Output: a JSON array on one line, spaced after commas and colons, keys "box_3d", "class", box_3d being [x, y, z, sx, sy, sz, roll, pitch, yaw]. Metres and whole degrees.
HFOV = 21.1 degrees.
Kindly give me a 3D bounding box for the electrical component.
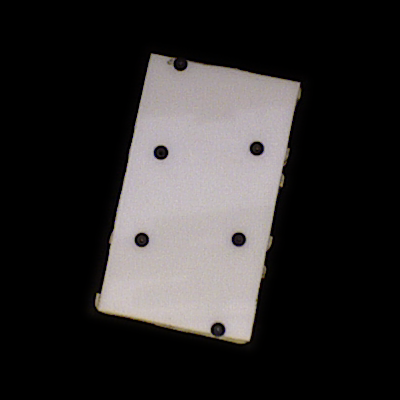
[{"box_3d": [0.000, 0.000, 0.630, 0.089, 0.150, 0.061, 12, -6, 2], "class": "electrical component"}]
